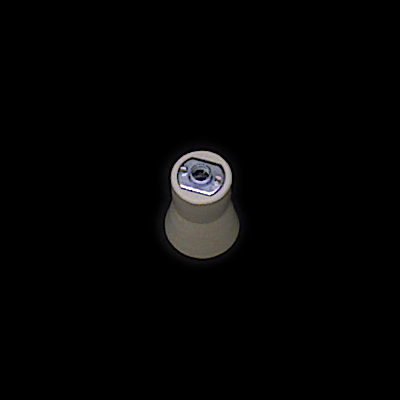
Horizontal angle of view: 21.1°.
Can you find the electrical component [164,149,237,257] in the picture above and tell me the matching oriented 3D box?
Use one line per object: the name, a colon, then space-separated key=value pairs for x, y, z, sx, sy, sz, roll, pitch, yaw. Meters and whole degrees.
electrical component: x=0.000 y=0.000 z=0.626 sx=0.044 sy=0.044 sz=0.065 roll=0 pitch=-28 yaw=0
